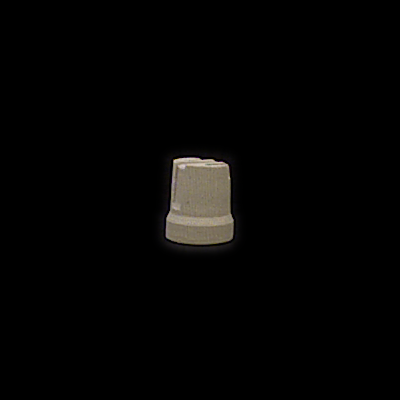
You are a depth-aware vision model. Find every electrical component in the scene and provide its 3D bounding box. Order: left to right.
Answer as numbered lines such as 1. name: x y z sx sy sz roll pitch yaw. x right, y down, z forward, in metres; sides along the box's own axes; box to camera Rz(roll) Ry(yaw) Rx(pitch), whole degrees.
1. electrical component: 0.000 0.000 0.646 0.040 0.046 0.040 1 12 0
